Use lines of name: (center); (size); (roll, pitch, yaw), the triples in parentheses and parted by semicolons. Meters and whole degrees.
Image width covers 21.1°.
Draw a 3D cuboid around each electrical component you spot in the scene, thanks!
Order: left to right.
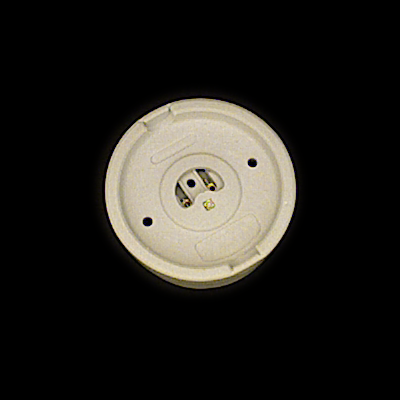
electrical component: (0.000, 0.000, 0.633); (0.108, 0.108, 0.060); (0, -16, 0)
